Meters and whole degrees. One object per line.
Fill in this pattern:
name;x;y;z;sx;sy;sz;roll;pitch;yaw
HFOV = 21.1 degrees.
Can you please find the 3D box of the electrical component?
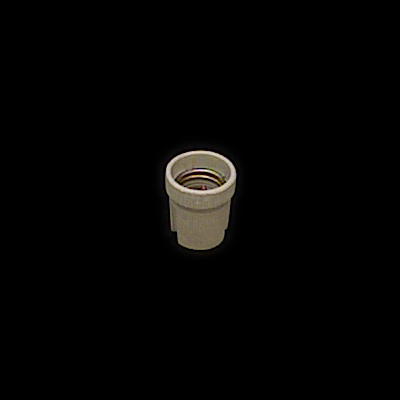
electrical component;0.000;0.000;0.633;0.040;0.047;0.039;1;42;0
